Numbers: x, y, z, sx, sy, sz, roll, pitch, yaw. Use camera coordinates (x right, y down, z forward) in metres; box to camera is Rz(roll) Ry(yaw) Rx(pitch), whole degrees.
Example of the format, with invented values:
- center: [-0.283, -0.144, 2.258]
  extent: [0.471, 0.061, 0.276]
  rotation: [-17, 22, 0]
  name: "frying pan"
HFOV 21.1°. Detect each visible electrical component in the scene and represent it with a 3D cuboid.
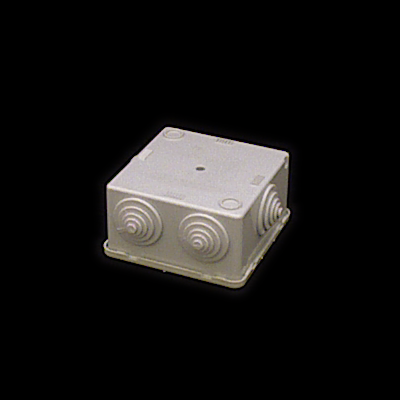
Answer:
- center: [0.000, 0.000, 0.637]
  extent: [0.099, 0.049, 0.099]
  rotation: [13, 34, 19]
  name: "electrical component"
